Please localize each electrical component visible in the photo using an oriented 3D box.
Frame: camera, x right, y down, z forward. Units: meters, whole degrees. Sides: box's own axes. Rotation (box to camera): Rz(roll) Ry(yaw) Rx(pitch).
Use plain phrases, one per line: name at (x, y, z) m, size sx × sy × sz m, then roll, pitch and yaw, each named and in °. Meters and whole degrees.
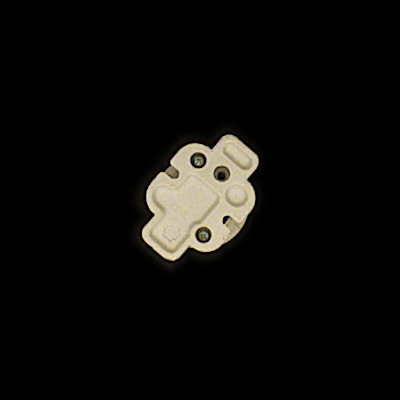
electrical component at (0.000, 0.000, 0.636) m, size 0.058 × 0.078 × 0.056 m, roll 40°, pitch -2°, yaw 3°
